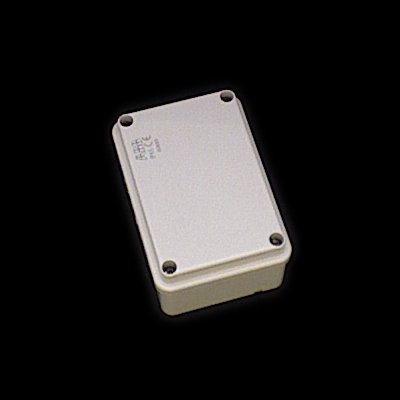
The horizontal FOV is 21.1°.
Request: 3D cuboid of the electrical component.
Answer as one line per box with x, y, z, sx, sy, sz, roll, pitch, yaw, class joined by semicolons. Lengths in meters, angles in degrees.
0.000;0.000;0.626;0.078;0.113;0.057;-14;-26;-8;electrical component
